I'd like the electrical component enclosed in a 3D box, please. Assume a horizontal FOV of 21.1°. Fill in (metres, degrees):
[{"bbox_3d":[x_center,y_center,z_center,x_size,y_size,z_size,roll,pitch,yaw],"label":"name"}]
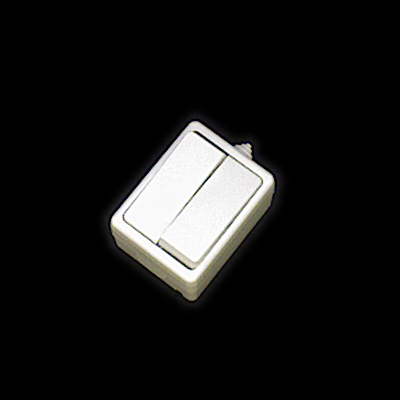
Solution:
[{"bbox_3d":[0.000,0.000,0.626,0.062,0.096,0.060,37,-14,10],"label":"electrical component"}]
